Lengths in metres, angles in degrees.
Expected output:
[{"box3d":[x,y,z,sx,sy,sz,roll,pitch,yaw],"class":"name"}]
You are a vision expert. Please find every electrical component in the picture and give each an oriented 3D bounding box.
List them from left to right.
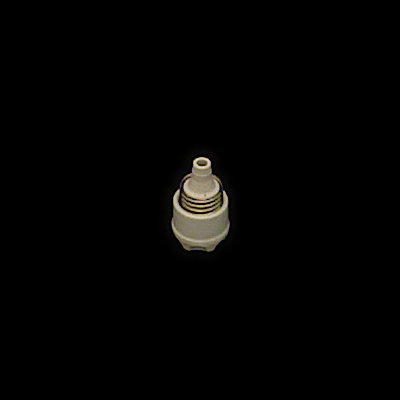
[{"box3d":[0.000,0.000,0.644,0.035,0.062,0.034,1,43,-1],"class":"electrical component"}]
